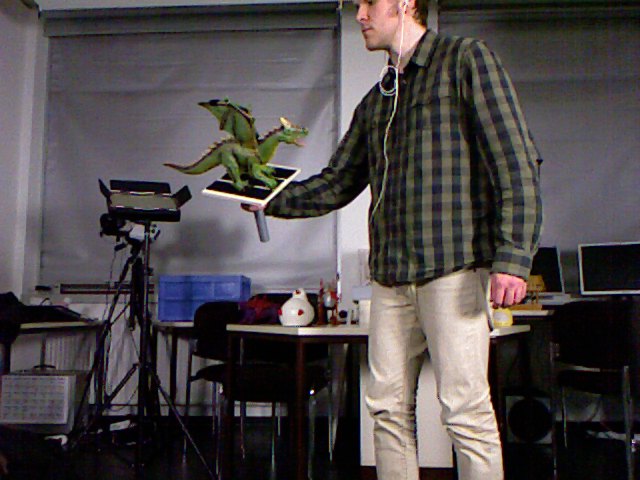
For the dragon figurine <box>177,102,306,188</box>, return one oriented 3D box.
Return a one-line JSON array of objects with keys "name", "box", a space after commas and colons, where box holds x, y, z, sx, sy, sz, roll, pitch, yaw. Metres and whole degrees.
[{"name": "dragon figurine", "box": [-0.235, -0.263, 1.382, 0.411, 0.237, 0.125, 3, 39, 14]}]
